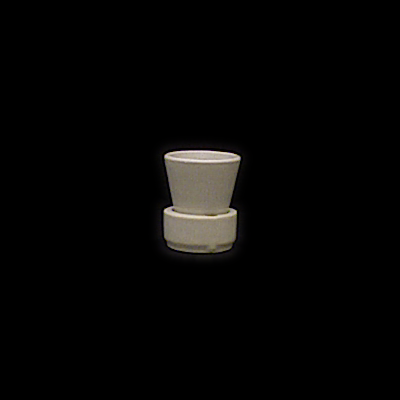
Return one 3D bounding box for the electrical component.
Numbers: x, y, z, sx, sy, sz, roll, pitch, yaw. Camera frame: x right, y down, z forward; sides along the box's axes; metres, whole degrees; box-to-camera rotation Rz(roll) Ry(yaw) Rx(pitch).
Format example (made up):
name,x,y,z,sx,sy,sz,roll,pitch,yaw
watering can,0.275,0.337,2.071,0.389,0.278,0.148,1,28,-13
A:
name,x,y,z,sx,sy,sz,roll,pitch,yaw
electrical component,0.000,0.000,0.646,0.045,0.055,0.044,2,11,0
